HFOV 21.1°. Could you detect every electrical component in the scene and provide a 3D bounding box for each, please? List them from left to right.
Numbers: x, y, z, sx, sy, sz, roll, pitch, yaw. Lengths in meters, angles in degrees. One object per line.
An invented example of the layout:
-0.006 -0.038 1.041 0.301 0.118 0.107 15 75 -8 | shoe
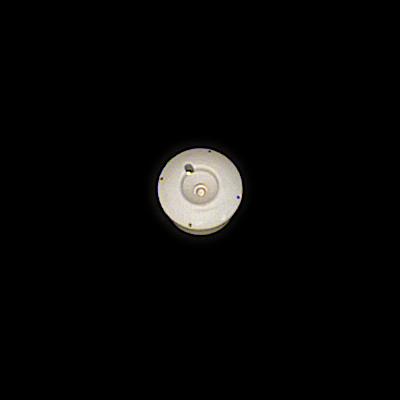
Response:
0.000 0.000 0.633 0.048 0.048 0.061 0 -16 1 | electrical component
